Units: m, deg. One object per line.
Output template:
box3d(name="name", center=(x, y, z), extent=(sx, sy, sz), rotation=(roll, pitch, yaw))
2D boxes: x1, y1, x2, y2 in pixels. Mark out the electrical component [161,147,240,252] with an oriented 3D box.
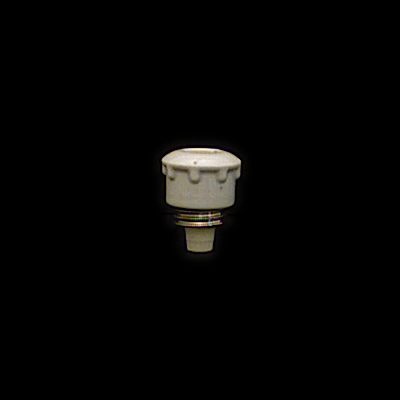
box3d(name="electrical component", center=(0.000, 0.000, 0.653), extent=(0.048, 0.062, 0.048), rotation=(1, 11, 0))
